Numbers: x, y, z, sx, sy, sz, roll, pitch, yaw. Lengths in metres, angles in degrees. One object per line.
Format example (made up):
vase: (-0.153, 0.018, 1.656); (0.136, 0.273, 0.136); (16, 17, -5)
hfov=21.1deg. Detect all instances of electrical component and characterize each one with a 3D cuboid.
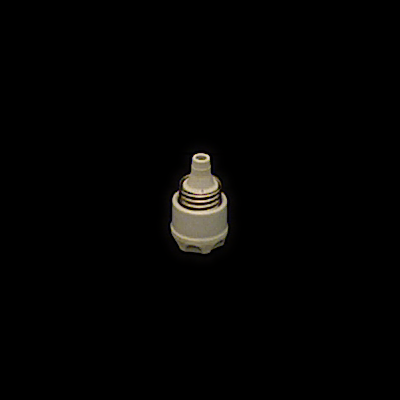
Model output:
electrical component: (0.000, 0.000, 0.648); (0.035, 0.062, 0.034); (1, 33, -1)
